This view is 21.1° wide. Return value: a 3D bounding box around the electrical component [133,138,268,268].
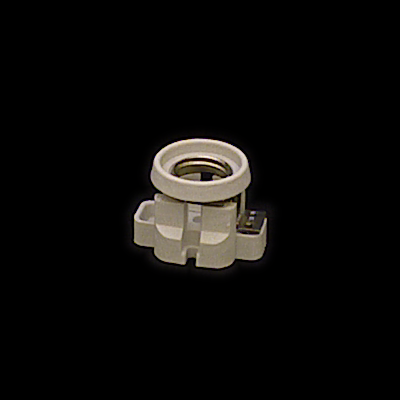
[{"bbox_3d":[0.000,0.000,0.636,0.078,0.057,0.057,7,32,10],"label":"electrical component"}]
